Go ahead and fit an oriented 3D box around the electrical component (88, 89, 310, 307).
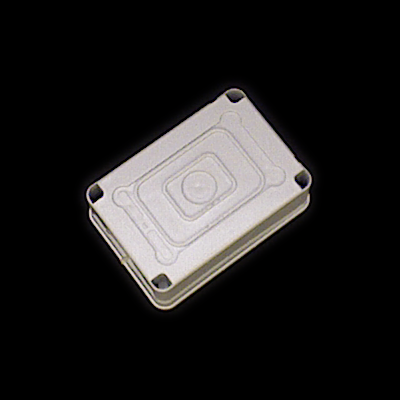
[{"bbox_3d":[0.000,0.000,0.627,0.113,0.078,0.057,-36,-13,-10],"label":"electrical component"}]
